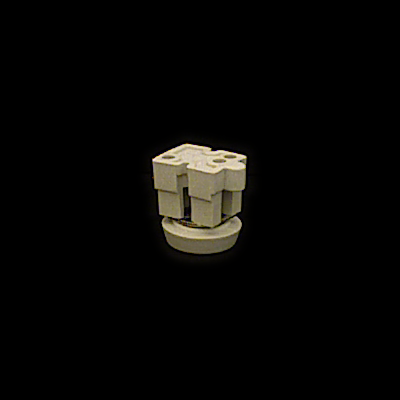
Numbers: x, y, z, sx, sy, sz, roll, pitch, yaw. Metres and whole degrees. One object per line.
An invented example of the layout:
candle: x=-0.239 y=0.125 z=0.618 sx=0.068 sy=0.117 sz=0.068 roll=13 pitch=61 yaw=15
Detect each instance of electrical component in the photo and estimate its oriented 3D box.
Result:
electrical component: x=0.000 y=0.000 z=0.647 sx=0.066 sy=0.056 sz=0.048 roll=14 pitch=27 yaw=31
